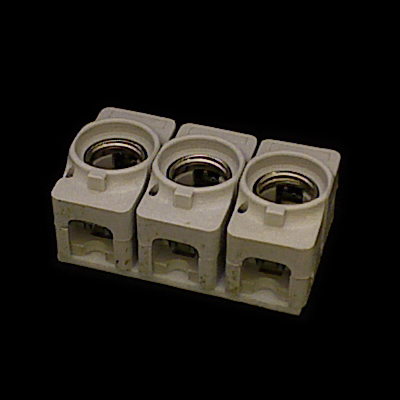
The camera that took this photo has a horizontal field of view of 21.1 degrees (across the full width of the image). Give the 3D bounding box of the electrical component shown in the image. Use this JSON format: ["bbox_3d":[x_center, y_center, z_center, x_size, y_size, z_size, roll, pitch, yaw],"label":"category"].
[{"bbox_3d":[0.000,0.000,0.635,0.150,0.063,0.088,11,43,12],"label":"electrical component"}]
